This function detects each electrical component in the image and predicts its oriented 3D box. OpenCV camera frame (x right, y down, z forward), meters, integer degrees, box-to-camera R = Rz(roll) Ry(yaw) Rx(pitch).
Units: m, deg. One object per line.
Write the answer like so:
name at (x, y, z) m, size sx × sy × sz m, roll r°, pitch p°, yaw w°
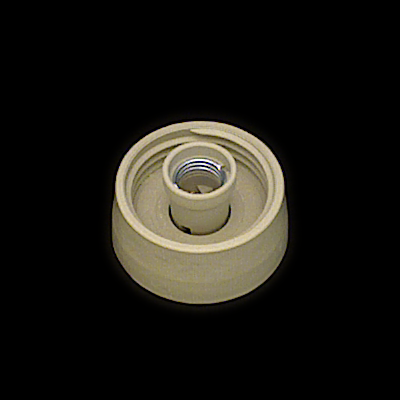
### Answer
electrical component at (0.000, 0.000, 0.636) m, size 0.108 × 0.107 × 0.060 m, roll 0°, pitch -37°, yaw 0°
